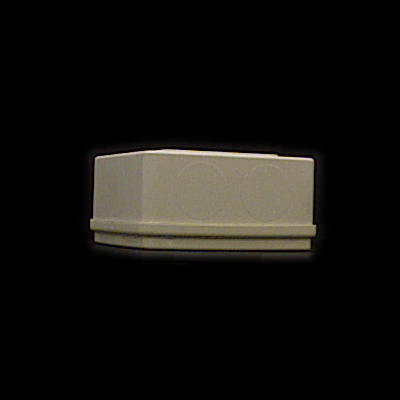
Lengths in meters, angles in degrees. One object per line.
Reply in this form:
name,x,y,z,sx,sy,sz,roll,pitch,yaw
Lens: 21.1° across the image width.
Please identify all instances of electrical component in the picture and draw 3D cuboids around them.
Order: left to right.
electrical component,0.000,0.000,0.650,0.109,0.056,0.108,1,0,-22
